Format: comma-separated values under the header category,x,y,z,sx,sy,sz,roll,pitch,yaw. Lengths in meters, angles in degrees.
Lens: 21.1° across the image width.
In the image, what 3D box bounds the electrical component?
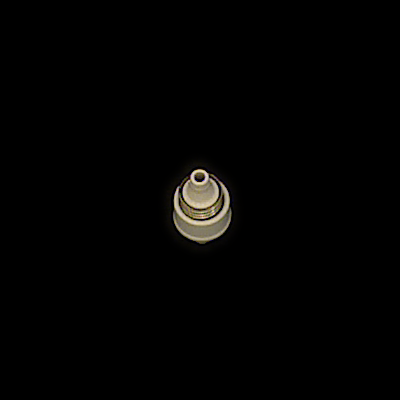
category,x,y,z,sx,sy,sz,roll,pitch,yaw
electrical component,0.000,0.000,0.637,0.035,0.035,0.061,0,-27,2
